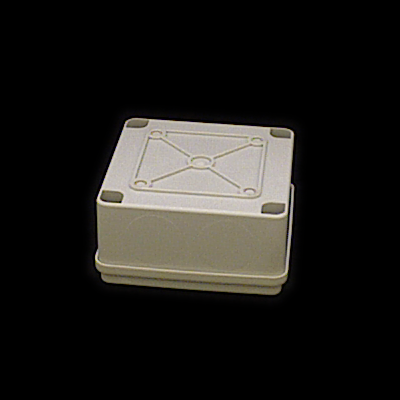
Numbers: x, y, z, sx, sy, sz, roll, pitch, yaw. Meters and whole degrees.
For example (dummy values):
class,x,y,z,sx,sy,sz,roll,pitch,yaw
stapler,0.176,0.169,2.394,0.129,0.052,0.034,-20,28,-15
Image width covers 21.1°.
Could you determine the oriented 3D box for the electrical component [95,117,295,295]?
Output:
class,x,y,z,sx,sy,sz,roll,pitch,yaw
electrical component,0.000,0.000,0.634,0.109,0.057,0.107,4,32,5
